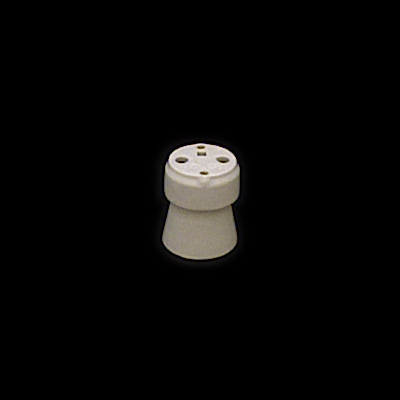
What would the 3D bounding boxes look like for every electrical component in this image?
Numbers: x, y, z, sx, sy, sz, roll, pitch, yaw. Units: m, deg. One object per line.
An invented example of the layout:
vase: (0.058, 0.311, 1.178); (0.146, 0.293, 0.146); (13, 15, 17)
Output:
electrical component: (0.000, 0.000, 0.636); (0.045, 0.056, 0.044); (1, 32, 0)
